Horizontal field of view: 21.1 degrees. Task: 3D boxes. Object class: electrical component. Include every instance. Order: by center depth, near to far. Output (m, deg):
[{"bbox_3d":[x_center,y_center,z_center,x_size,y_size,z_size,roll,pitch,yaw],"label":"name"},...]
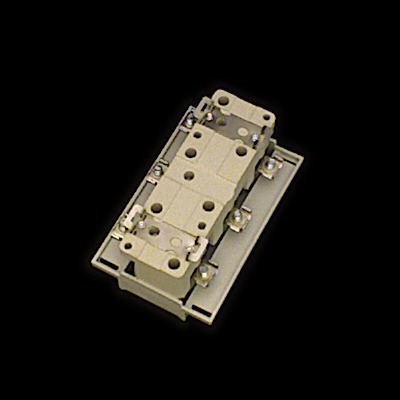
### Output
[{"bbox_3d":[0.000,0.000,0.633,0.078,0.122,0.063,26,-24,11],"label":"electrical component"}]
